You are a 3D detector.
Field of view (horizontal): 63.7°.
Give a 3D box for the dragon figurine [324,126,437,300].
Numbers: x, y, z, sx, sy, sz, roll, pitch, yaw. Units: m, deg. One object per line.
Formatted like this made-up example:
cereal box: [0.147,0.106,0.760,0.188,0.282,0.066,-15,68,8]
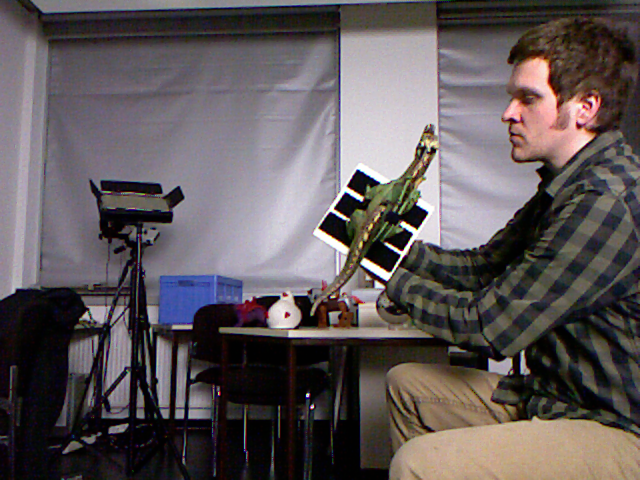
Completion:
dragon figurine: [0.128,-0.047,1.063,0.123,0.415,0.242,29,-8,1]
